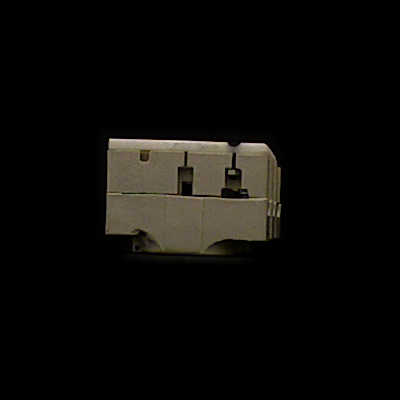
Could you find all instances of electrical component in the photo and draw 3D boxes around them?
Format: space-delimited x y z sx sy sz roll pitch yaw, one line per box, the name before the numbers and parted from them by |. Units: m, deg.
electrical component | 0.000 0.000 0.660 0.089 0.062 0.150 2 -1 7
